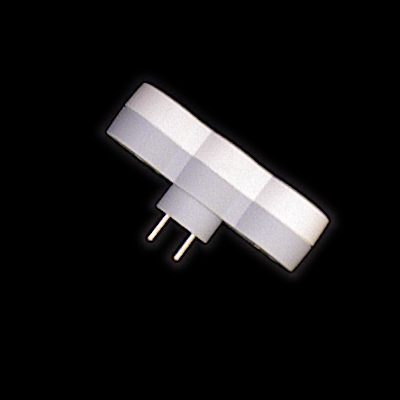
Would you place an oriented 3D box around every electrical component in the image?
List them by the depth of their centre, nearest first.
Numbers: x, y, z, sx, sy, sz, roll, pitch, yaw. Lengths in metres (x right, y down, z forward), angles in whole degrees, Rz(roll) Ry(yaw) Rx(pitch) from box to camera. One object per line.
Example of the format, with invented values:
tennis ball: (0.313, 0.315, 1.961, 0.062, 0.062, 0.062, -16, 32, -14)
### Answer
electrical component: (0.000, 0.000, 0.631, 0.138, 0.074, 0.052, 37, -3, 3)
